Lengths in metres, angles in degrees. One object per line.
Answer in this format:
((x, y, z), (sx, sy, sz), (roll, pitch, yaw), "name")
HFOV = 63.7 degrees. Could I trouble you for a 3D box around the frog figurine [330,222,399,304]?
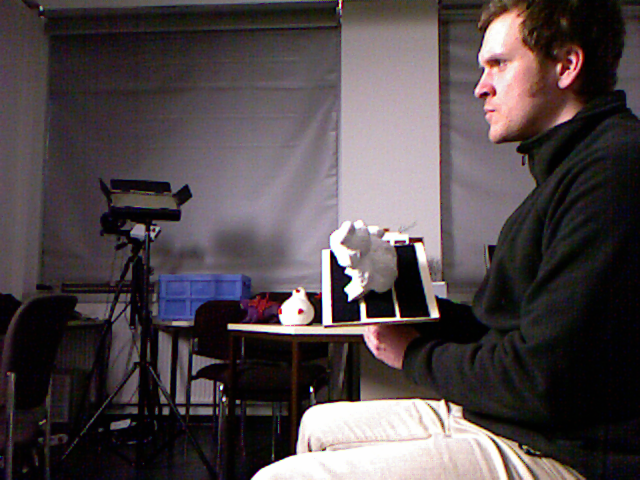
((0.082, 0.024, 0.917), (0.123, 0.156, 0.141), (13, 47, 19), "frog figurine")
